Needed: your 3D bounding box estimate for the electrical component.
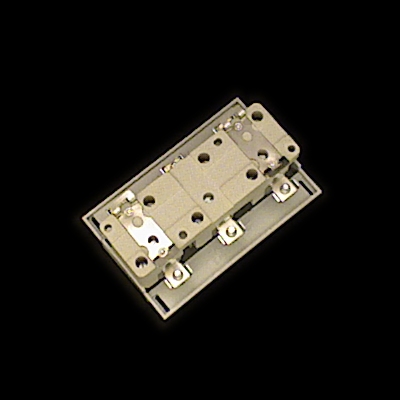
[{"bbox_3d":[0.000,0.000,0.634,0.122,0.078,0.063,-39,-13,-10],"label":"electrical component"}]
